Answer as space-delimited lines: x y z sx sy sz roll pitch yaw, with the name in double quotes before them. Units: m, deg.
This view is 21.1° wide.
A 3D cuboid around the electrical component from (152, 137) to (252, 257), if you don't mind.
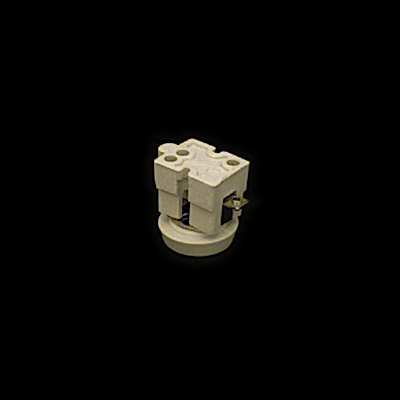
"electrical component" 0.000 0.000 0.643 0.065 0.056 0.048 23 37 29
